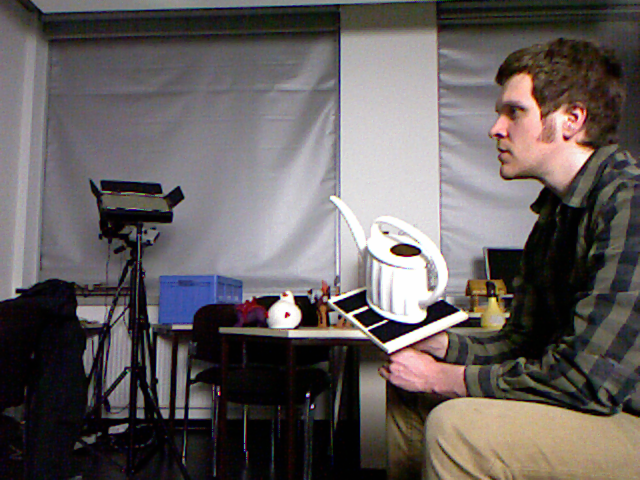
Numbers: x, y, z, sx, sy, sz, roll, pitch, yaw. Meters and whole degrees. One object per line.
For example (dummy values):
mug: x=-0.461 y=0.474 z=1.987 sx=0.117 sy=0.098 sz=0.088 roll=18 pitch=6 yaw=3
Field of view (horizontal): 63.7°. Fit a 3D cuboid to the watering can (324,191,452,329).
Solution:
watering can: x=0.125 y=0.040 z=1.045 sx=0.105 sy=0.220 sz=0.353 roll=-20 pitch=35 yaw=-31
